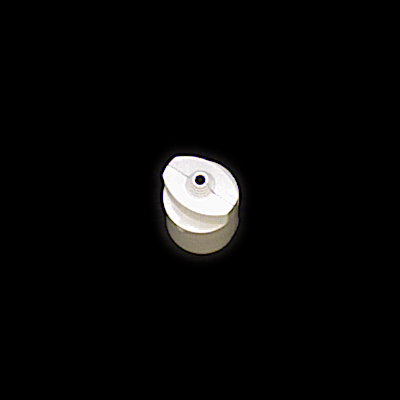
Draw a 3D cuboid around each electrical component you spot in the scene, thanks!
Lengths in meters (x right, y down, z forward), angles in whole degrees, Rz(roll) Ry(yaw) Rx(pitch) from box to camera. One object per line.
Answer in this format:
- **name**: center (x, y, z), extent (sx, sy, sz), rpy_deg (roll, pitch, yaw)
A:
- **electrical component**: center (0.000, 0.000, 0.616), extent (0.043, 0.043, 0.080), rpy_deg (0, -17, 1)
